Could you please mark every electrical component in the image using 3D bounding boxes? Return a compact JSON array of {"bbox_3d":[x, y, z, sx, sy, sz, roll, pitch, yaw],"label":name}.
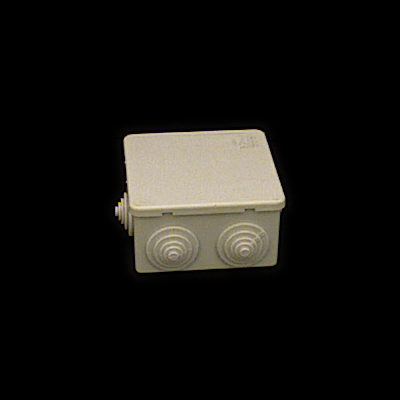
[{"bbox_3d":[0.000,0.000,0.646,0.100,0.049,0.098,-2,32,-6],"label":"electrical component"}]
